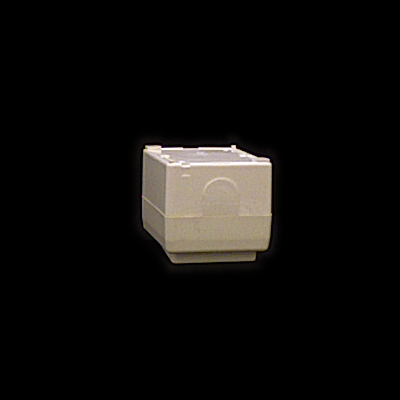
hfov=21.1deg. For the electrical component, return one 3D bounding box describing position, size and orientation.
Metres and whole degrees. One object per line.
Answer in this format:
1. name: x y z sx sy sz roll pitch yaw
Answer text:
1. electrical component: 0.000 0.000 0.647 0.062 0.061 0.095 -1 10 -14
